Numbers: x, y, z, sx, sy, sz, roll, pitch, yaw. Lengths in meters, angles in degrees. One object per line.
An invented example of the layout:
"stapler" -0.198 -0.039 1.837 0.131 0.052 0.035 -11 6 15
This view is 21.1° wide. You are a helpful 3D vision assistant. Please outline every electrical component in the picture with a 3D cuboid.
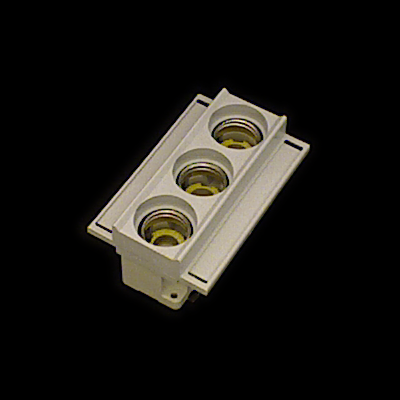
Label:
"electrical component" 0.000 0.000 0.639 0.078 0.121 0.063 27 -32 17
